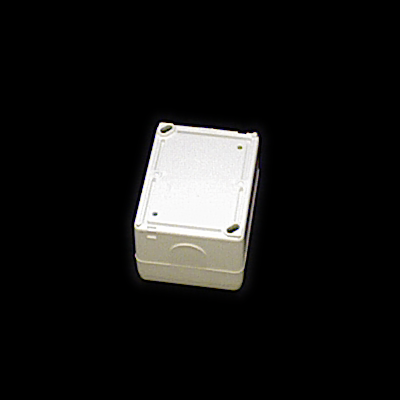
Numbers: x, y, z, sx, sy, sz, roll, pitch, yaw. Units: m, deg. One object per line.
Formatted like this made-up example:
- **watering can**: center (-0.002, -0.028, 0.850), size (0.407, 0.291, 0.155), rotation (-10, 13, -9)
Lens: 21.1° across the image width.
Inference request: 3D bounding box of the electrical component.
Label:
- **electrical component**: center (0.000, 0.000, 0.633), size (0.061, 0.095, 0.061), rotation (6, -38, 5)
